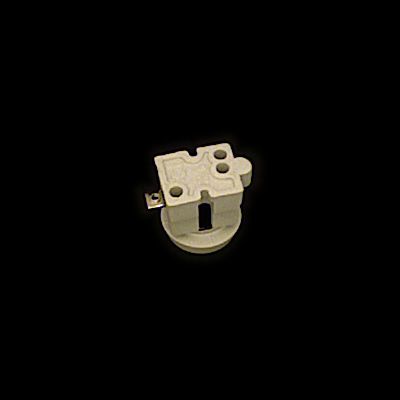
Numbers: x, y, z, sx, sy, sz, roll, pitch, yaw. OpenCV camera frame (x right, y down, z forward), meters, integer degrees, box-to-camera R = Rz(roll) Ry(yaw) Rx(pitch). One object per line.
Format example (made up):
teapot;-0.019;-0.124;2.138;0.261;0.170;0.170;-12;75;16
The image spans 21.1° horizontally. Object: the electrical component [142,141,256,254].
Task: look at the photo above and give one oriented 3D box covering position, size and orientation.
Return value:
electrical component;0.000;0.000;0.639;0.067;0.048;0.056;-11;-35;-7
